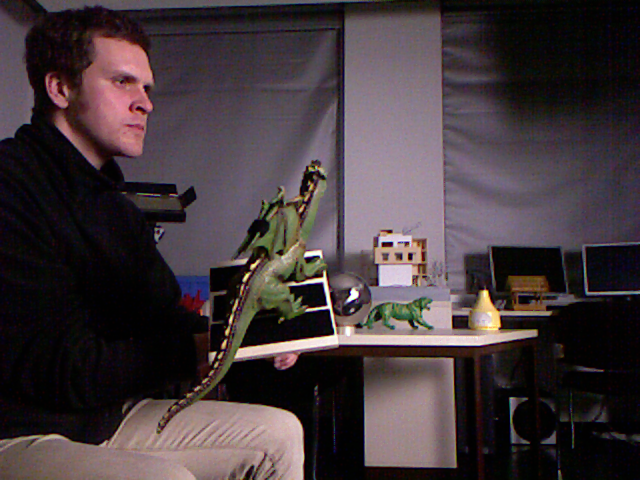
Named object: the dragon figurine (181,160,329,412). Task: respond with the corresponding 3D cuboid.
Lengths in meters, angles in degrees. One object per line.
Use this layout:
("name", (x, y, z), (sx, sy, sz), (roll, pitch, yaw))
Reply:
("dragon figurine", (-0.089, 0.038, 0.755), (0.123, 0.420, 0.237), (22, -34, 16))
